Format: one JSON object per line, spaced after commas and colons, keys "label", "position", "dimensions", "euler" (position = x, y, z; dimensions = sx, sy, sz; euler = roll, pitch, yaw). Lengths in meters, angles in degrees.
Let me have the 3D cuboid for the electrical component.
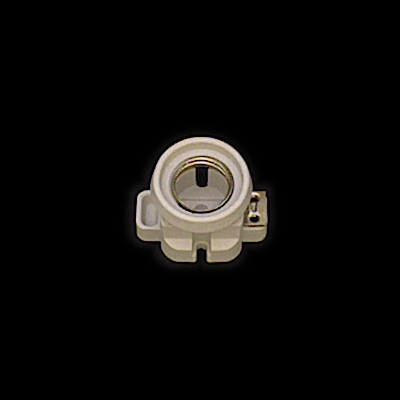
{"label": "electrical component", "position": [0.000, 0.000, 0.629], "dimensions": [0.078, 0.058, 0.057], "euler": [0, -27, 0]}
